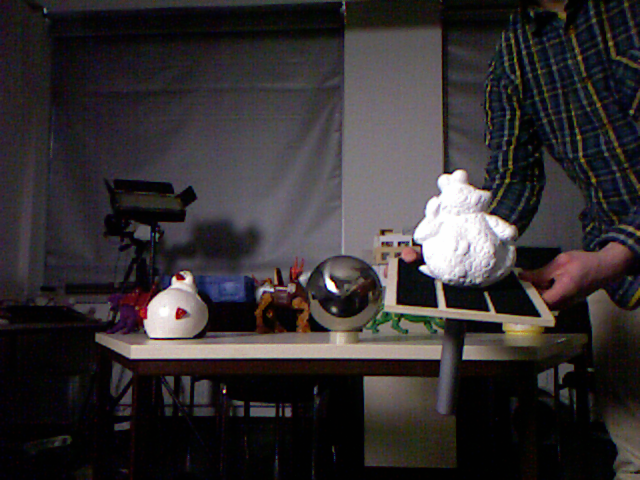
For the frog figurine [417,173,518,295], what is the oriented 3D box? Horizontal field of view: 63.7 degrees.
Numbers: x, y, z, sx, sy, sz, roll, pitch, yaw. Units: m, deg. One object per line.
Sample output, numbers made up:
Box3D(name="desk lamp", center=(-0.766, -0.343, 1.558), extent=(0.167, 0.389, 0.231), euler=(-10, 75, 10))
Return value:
Box3D(name="frog figurine", center=(0.207, -0.010, 0.725), extent=(0.138, 0.157, 0.125), euler=(8, 21, 17))
